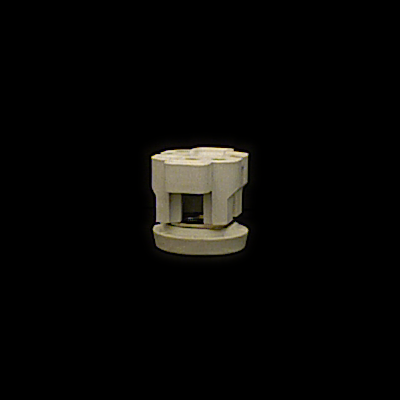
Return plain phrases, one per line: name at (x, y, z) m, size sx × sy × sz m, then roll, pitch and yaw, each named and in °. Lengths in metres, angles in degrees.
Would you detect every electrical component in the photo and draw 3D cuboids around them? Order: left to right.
electrical component at (0.000, 0.000, 0.653) m, size 0.057 × 0.057 × 0.078 m, roll 3°, pitch 10°, yaw 12°
